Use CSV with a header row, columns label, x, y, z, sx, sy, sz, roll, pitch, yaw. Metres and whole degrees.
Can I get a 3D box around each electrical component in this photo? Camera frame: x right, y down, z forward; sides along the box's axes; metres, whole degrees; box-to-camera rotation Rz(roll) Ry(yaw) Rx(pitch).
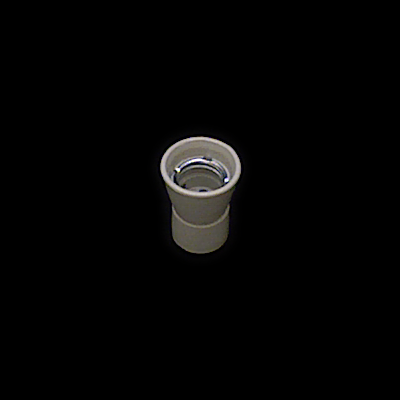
label,x,y,z,sx,sy,sz,roll,pitch,yaw
electrical component,0.000,0.000,0.628,0.044,0.044,0.065,0,-39,0
